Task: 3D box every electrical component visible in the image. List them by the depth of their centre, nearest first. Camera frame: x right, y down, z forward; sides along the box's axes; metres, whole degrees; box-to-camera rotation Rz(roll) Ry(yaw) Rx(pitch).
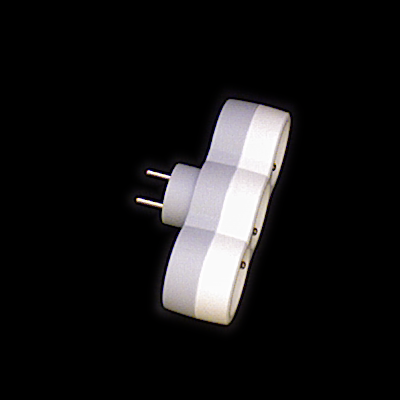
[{"bbox_3d":[0.000,0.000,0.629,0.073,0.139,0.052,14,-25,9],"label":"electrical component"}]
